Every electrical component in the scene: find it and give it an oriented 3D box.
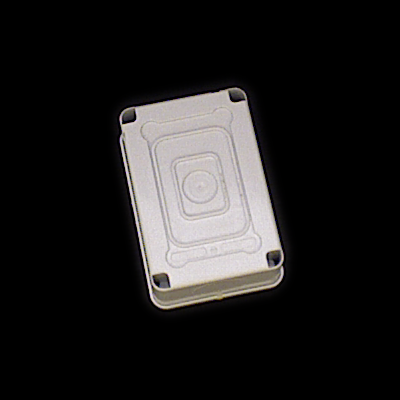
[{"bbox_3d":[0.000,0.000,0.627,0.078,0.113,0.057,-11,-16,-4],"label":"electrical component"}]
